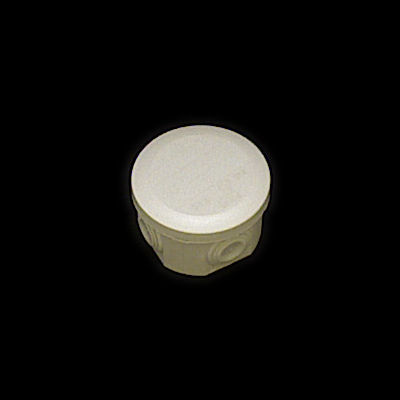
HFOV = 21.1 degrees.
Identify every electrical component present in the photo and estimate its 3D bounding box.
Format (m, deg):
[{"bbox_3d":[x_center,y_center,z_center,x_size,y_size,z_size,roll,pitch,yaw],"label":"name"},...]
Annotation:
[{"bbox_3d":[0.000,0.000,0.630,0.080,0.080,0.051,0,-38,0],"label":"electrical component"}]
